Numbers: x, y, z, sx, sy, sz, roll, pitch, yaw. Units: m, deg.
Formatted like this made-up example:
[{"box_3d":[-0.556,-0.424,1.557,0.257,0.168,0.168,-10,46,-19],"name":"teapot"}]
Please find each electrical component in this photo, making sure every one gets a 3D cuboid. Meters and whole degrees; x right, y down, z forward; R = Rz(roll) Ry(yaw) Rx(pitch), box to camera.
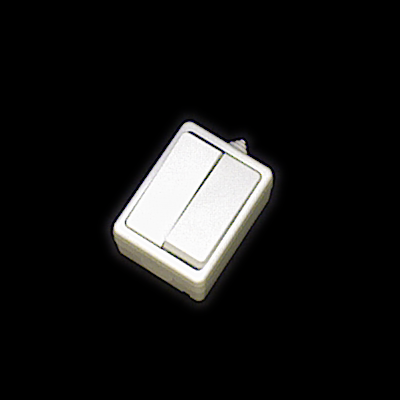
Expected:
[{"box_3d":[0.000,0.000,0.627,0.062,0.096,0.060,32,-14,9],"name":"electrical component"}]
